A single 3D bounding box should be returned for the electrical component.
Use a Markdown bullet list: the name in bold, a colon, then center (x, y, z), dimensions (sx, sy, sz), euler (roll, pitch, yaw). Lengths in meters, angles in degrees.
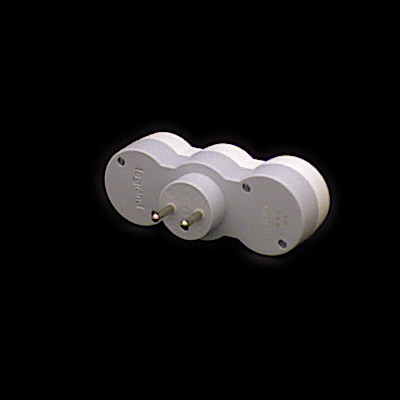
- **electrical component**: center (0.000, 0.000, 0.640), dimensions (0.138, 0.053, 0.073), euler (13, 26, 26)
